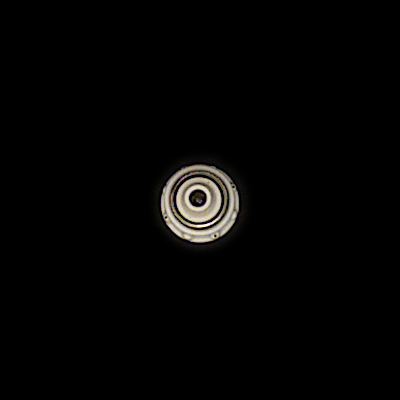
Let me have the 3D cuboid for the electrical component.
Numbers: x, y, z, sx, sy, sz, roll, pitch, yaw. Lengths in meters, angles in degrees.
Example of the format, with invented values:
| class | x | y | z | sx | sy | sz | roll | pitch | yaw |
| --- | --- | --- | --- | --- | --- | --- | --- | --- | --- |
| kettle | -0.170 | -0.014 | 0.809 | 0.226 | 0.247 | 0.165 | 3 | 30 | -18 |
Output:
| class | x | y | z | sx | sy | sz | roll | pitch | yaw |
| --- | --- | --- | --- | --- | --- | --- | --- | --- | --- |
| electrical component | 0.000 | 0.000 | 0.634 | 0.048 | 0.048 | 0.062 | 0 | -4 | 1 |
